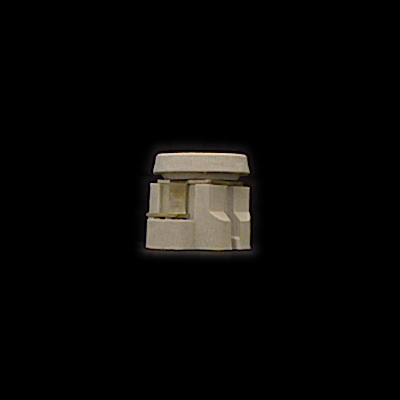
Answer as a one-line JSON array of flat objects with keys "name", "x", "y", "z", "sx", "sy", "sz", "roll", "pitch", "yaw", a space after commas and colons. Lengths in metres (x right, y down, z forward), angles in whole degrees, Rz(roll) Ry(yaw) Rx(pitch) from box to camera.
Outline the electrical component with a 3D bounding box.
[{"name": "electrical component", "x": 0.000, "y": 0.000, "z": 0.648, "sx": 0.057, "sy": 0.057, "sz": 0.079, "roll": 2, "pitch": 1, "yaw": 35}]
